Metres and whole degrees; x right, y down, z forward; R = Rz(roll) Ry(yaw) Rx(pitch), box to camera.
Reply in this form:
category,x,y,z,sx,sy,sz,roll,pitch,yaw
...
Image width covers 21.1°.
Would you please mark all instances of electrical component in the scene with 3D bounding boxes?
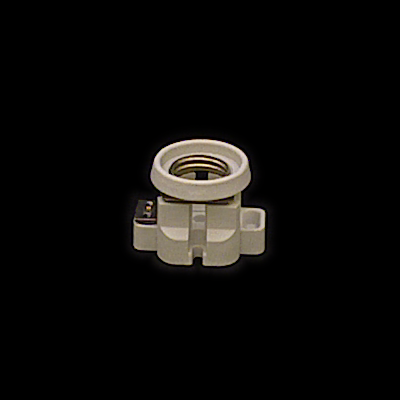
category,x,y,z,sx,sy,sz,roll,pitch,yaw
electrical component,0.000,0.000,0.634,0.078,0.057,0.057,2,32,2
